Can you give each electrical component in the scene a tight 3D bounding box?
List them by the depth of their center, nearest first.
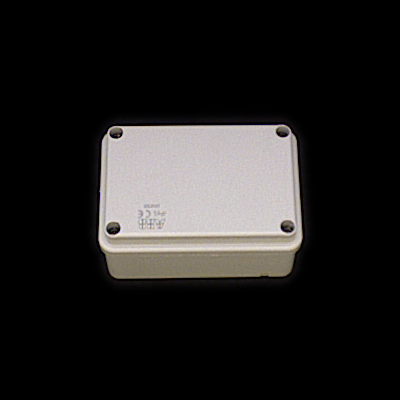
[{"bbox_3d":[0.000,0.000,0.626,0.113,0.078,0.057,-1,-27,-1],"label":"electrical component"}]
